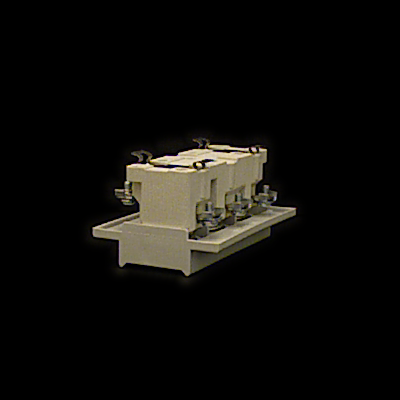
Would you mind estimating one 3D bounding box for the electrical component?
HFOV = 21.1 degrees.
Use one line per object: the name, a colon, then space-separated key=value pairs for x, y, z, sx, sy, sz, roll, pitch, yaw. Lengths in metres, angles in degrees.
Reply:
electrical component: x=0.000 y=0.000 z=0.651 sx=0.078 sy=0.063 sz=0.121 roll=7 pitch=12 yaw=24
